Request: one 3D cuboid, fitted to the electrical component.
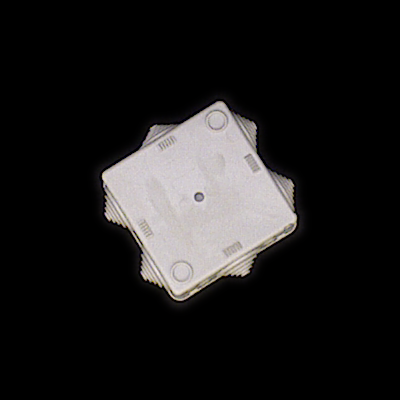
[{"bbox_3d":[0.000,0.000,0.632,0.100,0.100,0.048,-32,-6,-3],"label":"electrical component"}]
